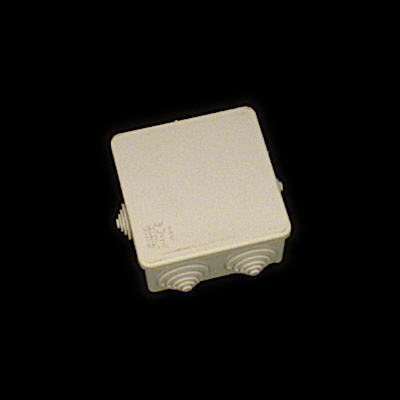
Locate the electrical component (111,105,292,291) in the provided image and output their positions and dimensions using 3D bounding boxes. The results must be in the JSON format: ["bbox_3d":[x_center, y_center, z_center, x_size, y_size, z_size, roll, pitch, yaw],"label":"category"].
[{"bbox_3d":[0.000,0.000,0.639,0.100,0.099,0.048,-12,-26,-7],"label":"electrical component"}]
